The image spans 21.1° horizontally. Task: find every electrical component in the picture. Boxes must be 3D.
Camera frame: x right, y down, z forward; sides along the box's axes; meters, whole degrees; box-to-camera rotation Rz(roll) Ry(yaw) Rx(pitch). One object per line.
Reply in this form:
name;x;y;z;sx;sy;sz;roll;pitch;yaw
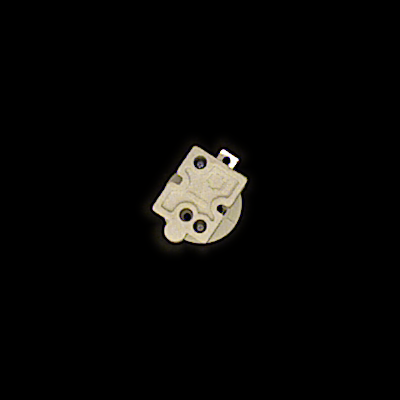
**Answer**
electrical component;0.000;0.000;0.638;0.048;0.067;0.055;34;-5;5
